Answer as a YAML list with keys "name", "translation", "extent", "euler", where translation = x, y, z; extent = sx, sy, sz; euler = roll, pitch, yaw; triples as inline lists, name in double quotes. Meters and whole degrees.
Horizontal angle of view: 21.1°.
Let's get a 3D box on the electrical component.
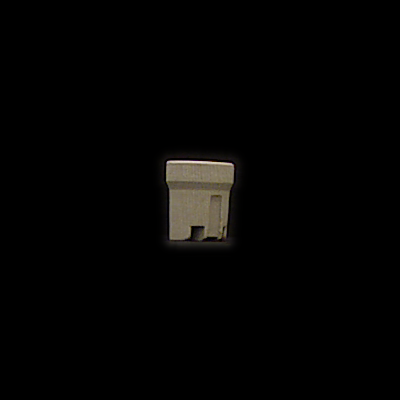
- name: "electrical component"
  translation: [0.000, 0.000, 0.647]
  extent: [0.040, 0.046, 0.040]
  euler: [1, 1, 0]
